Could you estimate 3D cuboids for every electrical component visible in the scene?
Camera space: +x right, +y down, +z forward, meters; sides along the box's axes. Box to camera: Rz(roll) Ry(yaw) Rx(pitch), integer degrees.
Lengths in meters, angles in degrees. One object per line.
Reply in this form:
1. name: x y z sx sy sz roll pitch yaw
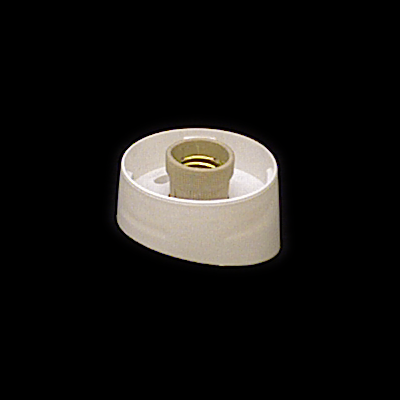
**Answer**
1. electrical component: 0.000 0.000 0.633 0.099 0.065 0.097 1 31 0
